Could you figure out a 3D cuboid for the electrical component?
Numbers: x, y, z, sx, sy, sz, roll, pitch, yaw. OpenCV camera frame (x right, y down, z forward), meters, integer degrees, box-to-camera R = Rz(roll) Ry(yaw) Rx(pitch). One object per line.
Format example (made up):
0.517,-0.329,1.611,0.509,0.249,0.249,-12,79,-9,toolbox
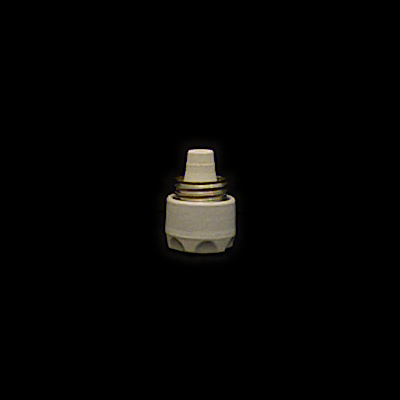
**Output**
0.000,0.000,0.652,0.043,0.062,0.043,1,11,0,electrical component
